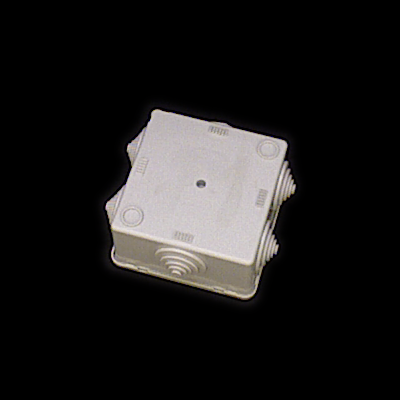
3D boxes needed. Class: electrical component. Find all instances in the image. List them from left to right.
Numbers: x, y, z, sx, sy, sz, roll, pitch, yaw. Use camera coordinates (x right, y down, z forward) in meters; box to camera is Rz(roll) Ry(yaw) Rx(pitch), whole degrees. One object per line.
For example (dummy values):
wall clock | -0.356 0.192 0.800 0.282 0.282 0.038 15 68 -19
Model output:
electrical component | 0.000 0.000 0.632 0.099 0.100 0.048 15 -26 7
